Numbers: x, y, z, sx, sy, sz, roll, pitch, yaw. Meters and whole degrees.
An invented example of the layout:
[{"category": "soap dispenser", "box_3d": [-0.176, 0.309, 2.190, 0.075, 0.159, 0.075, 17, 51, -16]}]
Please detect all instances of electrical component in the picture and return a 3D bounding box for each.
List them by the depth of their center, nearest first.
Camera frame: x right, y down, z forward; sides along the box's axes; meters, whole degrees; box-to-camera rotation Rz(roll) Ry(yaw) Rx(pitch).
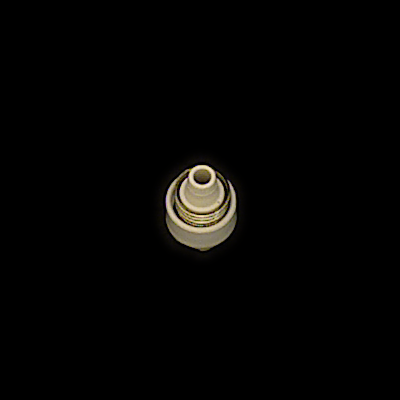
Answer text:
[{"category": "electrical component", "box_3d": [0.000, 0.000, 0.634, 0.043, 0.043, 0.062, 0, -27, -1]}]
